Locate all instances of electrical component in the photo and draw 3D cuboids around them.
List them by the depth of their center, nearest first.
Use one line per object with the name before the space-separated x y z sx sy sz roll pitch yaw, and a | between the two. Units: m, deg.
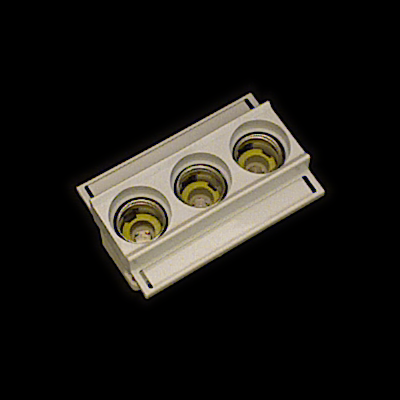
electrical component | 0.000 0.000 0.637 0.121 0.078 0.063 -29 -22 -14
